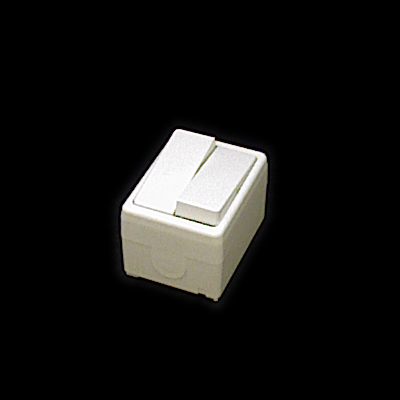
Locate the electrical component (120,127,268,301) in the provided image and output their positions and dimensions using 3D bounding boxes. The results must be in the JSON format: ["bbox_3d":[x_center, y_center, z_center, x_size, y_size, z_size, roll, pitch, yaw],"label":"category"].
[{"bbox_3d":[0.000,0.000,0.632,0.061,0.061,0.095,16,44,16],"label":"electrical component"}]
